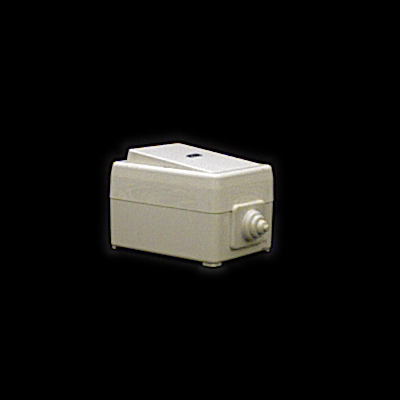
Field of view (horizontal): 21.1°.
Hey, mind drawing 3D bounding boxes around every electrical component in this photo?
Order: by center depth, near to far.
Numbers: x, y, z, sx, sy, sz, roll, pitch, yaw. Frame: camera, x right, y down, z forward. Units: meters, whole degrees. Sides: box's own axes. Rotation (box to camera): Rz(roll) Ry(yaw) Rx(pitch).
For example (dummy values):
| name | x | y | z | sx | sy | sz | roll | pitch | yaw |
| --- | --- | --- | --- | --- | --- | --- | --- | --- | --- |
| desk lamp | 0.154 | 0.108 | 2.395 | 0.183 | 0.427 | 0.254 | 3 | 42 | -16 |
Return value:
| name | x | y | z | sx | sy | sz | roll | pitch | yaw |
| --- | --- | --- | --- | --- | --- | --- | --- | --- | --- |
| electrical component | 0.000 | 0.000 | 0.643 | 0.096 | 0.061 | 0.061 | 9 | 13 | 36 |
